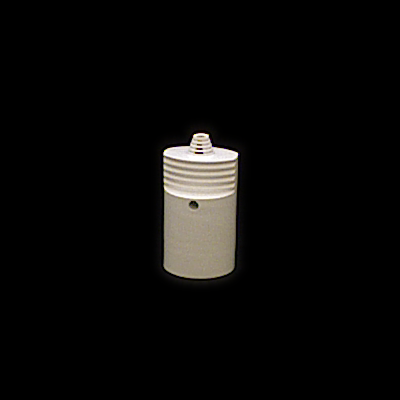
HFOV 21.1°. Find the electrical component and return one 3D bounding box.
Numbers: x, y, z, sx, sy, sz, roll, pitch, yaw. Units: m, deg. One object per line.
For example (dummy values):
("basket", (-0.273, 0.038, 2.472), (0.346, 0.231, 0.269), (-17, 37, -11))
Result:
("electrical component", (0.000, 0.000, 0.635), (0.043, 0.082, 0.042), (1, 21, 0))
